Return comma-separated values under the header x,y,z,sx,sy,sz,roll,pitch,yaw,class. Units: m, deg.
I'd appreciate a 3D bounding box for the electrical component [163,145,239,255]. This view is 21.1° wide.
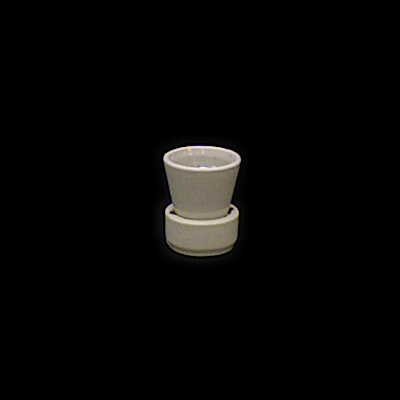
x,y,z,sx,sy,sz,roll,pitch,yaw,class
0.000,0.000,0.640,0.045,0.056,0.044,1,21,0,electrical component
